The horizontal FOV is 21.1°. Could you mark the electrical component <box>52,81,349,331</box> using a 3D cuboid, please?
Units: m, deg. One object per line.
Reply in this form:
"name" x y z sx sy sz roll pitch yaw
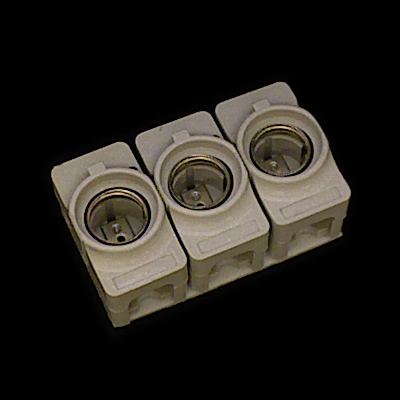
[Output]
"electrical component" 0.000 0.000 0.632 0.150 0.089 0.062 -22 -26 -11
